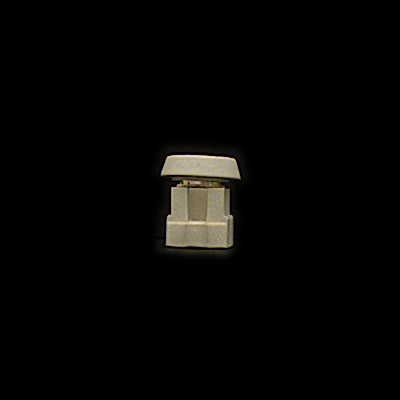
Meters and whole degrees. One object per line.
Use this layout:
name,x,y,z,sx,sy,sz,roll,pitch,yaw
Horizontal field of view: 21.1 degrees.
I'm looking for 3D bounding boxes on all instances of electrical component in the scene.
electrical component,0.000,0.000,0.657,0.048,0.055,0.066,3,2,5
